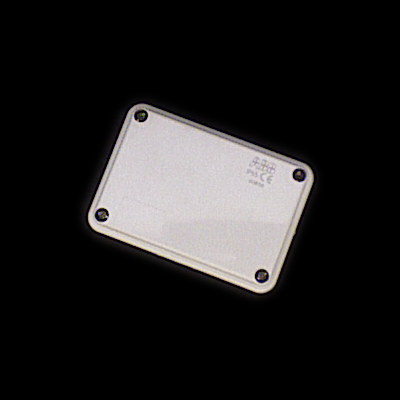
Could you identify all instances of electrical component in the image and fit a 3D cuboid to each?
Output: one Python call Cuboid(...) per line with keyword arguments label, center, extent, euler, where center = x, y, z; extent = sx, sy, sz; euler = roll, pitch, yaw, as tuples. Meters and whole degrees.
Cuboid(label="electrical component", center=(0.000, 0.000, 0.628), extent=(0.113, 0.078, 0.057), euler=(21, -6, 3))
